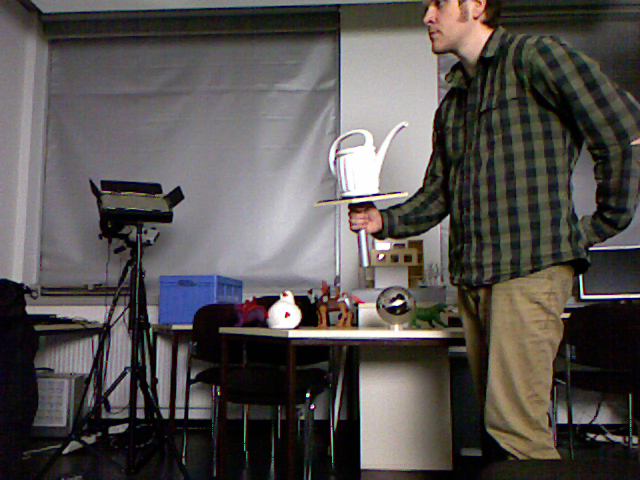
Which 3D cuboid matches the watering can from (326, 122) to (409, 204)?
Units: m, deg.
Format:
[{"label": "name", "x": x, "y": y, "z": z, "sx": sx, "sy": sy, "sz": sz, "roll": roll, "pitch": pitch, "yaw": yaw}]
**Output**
[{"label": "watering can", "x": 0.135, "y": -0.217, "z": 1.494, "sx": 0.105, "sy": 0.224, "sz": 0.347, "roll": -14, "pitch": 7, "yaw": -37}]
